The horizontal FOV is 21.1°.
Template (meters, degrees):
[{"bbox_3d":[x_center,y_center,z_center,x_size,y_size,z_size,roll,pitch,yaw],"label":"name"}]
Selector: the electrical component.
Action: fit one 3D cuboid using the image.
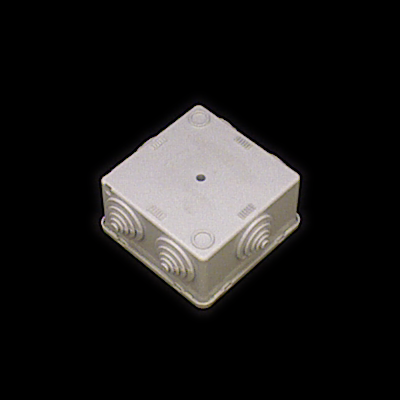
[{"bbox_3d":[0.000,0.000,0.632,0.099,0.049,0.100,37,61,24],"label":"electrical component"}]
